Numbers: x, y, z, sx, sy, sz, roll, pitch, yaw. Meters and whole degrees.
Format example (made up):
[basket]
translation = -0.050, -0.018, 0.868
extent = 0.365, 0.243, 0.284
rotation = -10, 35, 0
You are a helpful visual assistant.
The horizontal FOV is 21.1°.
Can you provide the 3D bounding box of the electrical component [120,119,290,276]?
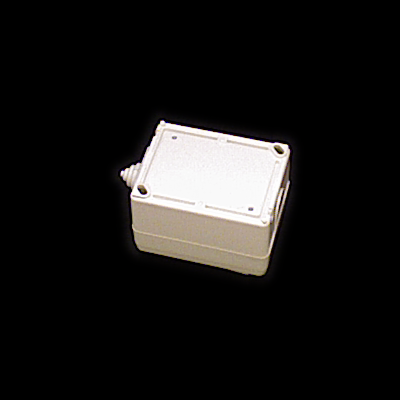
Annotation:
[electrical component]
translation = 0.000, 0.000, 0.631
extent = 0.096, 0.061, 0.061
rotation = 11, -37, 9
